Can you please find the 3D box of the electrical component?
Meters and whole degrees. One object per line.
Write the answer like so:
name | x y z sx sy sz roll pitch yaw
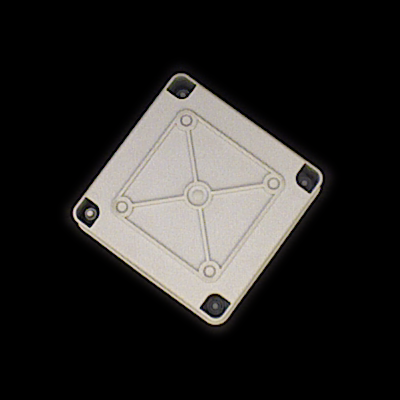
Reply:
electrical component | 0.000 0.000 0.628 0.109 0.109 0.056 36 -5 4
